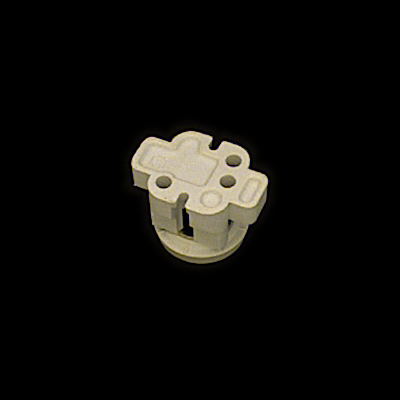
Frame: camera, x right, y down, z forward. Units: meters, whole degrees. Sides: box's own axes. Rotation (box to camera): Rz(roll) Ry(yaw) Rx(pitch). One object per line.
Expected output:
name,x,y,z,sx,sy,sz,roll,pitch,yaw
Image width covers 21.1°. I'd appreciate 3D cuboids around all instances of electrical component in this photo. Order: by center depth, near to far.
electrical component,0.000,0.000,0.636,0.078,0.058,0.057,18,-34,14
